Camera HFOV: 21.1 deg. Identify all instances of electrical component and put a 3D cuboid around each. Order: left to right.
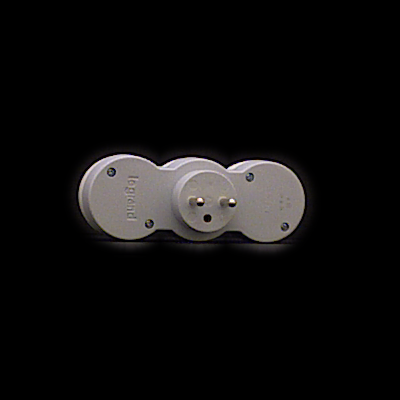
[{"bbox_3d":[0.000,0.000,0.651,0.138,0.052,0.073,2,2,-16],"label":"electrical component"}]
